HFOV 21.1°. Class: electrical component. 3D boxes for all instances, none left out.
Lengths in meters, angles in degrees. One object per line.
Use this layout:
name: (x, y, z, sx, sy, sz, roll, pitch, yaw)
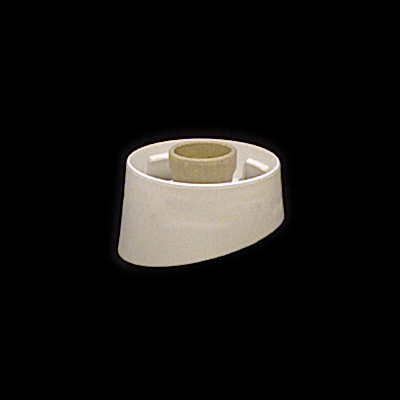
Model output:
electrical component: (0.000, 0.000, 0.639, 0.099, 0.065, 0.097, 1, 21, 0)
